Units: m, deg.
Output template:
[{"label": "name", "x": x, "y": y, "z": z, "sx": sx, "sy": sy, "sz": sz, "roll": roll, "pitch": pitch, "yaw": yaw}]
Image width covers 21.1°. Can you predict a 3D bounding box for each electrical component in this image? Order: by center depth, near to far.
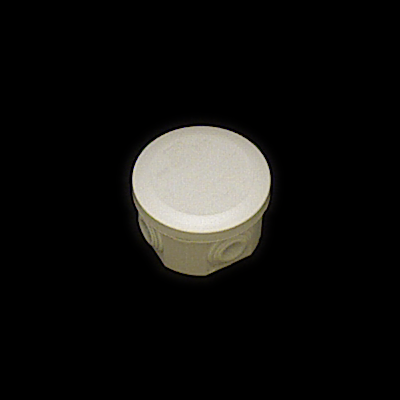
[{"label": "electrical component", "x": 0.000, "y": 0.000, "z": 0.632, "sx": 0.080, "sy": 0.080, "sz": 0.051, "roll": 0, "pitch": -38, "yaw": -1}]
